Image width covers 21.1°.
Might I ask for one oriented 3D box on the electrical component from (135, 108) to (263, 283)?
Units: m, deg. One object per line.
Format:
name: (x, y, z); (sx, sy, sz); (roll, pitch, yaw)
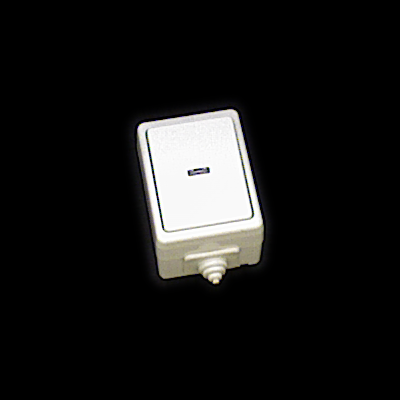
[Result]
electrical component: (0.000, 0.000, 0.625); (0.062, 0.096, 0.060); (-9, -27, -5)
